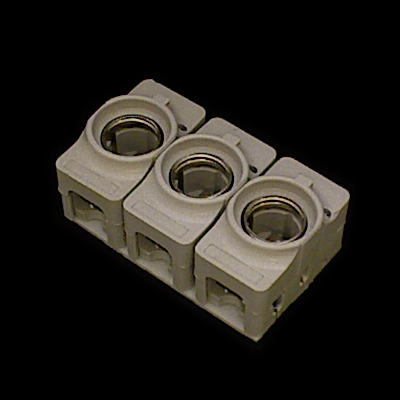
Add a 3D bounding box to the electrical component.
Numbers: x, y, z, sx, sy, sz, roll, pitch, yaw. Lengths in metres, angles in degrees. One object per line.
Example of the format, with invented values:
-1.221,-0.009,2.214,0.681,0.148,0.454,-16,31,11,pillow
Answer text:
0.000,0.000,0.635,0.149,0.089,0.062,31,-32,21,electrical component
